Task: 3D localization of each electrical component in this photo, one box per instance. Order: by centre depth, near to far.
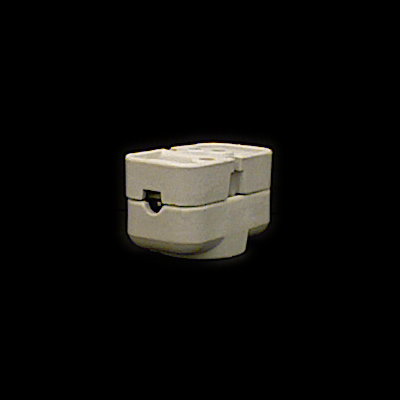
[{"bbox_3d":[0.000,0.000,0.651,0.053,0.060,0.096,9,14,35],"label":"electrical component"}]
